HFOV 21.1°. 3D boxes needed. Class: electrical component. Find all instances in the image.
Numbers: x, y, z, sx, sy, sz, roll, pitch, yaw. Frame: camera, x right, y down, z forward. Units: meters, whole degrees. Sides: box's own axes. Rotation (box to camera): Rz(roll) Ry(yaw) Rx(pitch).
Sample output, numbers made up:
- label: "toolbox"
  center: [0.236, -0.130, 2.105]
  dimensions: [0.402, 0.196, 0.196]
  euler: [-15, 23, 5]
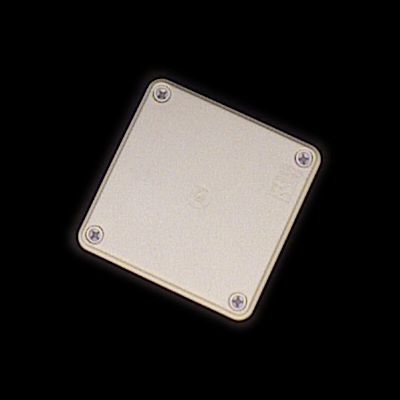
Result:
- label: "electrical component"
  center: [0.000, 0.000, 0.631]
  dimensions: [0.109, 0.109, 0.056]
  euler: [25, -6, 3]
